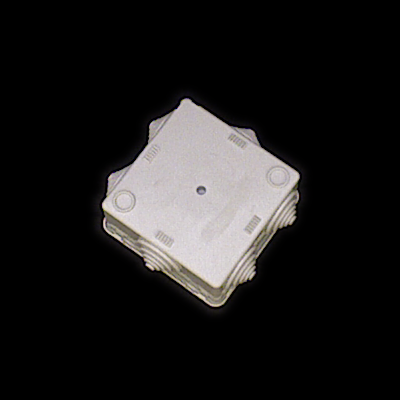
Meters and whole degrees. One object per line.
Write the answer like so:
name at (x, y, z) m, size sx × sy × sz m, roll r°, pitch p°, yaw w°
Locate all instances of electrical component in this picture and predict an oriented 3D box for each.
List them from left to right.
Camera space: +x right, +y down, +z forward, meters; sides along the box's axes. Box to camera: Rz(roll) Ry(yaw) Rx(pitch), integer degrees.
electrical component at (0.000, 0.000, 0.632) m, size 0.099 × 0.100 × 0.048 m, roll 35°, pitch -14°, yaw 10°
